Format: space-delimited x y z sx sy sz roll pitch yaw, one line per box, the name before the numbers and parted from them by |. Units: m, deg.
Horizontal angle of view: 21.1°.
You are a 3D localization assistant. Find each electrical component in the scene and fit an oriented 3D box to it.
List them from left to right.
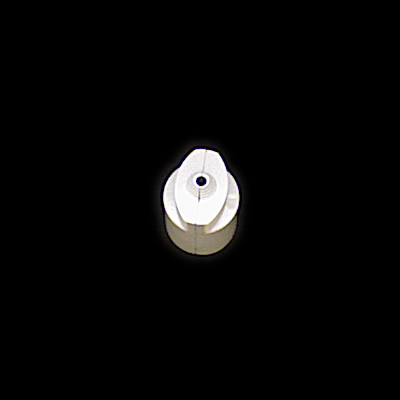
electrical component | 0.000 0.000 0.616 0.043 0.043 0.080 0 -17 0
